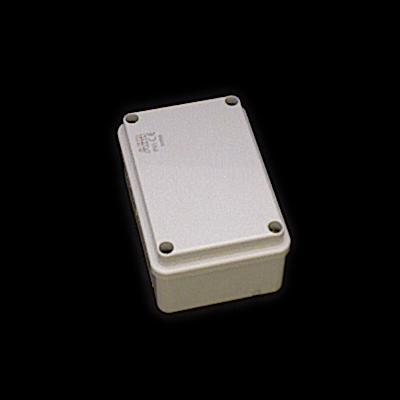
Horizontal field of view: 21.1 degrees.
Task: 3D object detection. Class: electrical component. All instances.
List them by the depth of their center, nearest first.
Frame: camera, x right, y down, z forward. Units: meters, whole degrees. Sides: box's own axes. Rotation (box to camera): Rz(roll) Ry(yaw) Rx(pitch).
[{"bbox_3d":[0.000,0.000,0.628,0.078,0.112,0.057,-11,-36,-8],"label":"electrical component"}]
